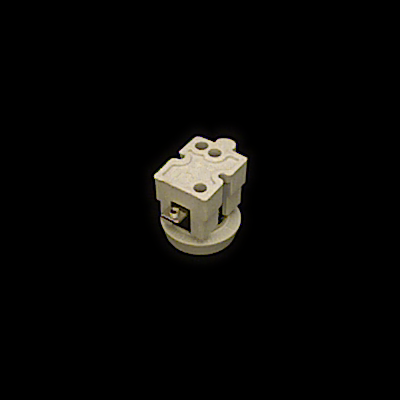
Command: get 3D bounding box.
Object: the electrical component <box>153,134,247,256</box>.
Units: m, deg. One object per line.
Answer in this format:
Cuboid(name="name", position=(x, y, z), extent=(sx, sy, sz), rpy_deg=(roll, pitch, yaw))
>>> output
Cuboid(name="electrical component", position=(0.000, 0.000, 0.641), extent=(0.048, 0.056, 0.066), rpy_deg=(26, 49, 24))
